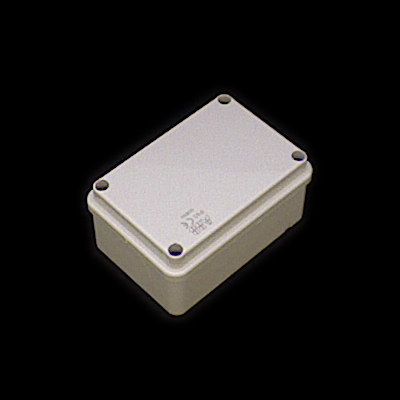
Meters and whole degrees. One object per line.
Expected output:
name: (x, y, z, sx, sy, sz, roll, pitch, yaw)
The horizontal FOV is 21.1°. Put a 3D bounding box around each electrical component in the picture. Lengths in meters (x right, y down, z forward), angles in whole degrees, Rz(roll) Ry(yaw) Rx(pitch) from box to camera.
electrical component: (0.000, 0.000, 0.627, 0.113, 0.057, 0.078, -37, 61, -25)
